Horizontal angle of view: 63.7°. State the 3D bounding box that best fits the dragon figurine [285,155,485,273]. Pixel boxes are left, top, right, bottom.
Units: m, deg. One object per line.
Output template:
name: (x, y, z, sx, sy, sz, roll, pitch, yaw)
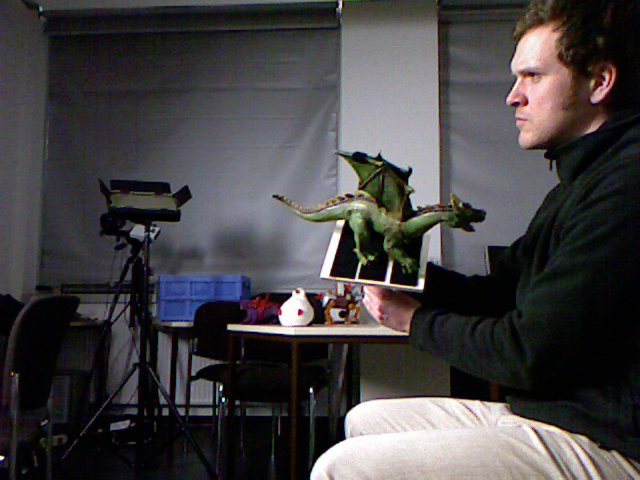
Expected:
dragon figurine: (0.099, -0.074, 0.983, 0.413, 0.125, 0.238, 17, -38, 18)
